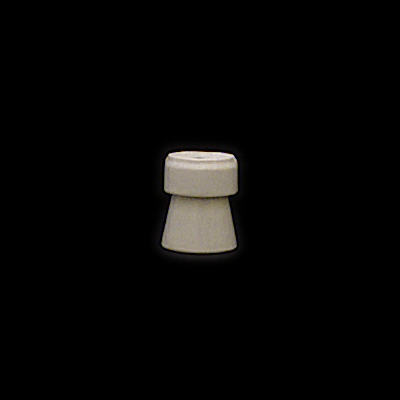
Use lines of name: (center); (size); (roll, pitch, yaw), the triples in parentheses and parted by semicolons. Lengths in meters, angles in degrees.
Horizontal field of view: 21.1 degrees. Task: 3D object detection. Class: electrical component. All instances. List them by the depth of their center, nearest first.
electrical component: (0.000, 0.000, 0.646); (0.045, 0.055, 0.044); (2, 11, 0)
